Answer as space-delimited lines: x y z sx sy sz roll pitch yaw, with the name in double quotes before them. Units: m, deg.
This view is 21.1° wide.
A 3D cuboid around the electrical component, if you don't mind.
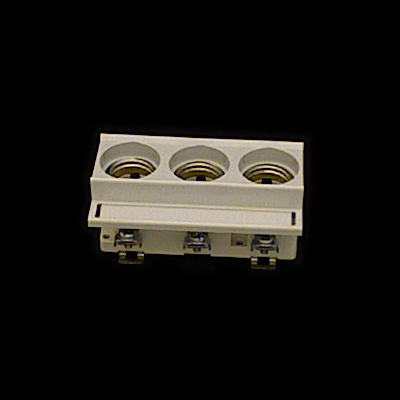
"electrical component" 0.000 0.000 0.643 0.121 0.064 0.077 3 41 2
